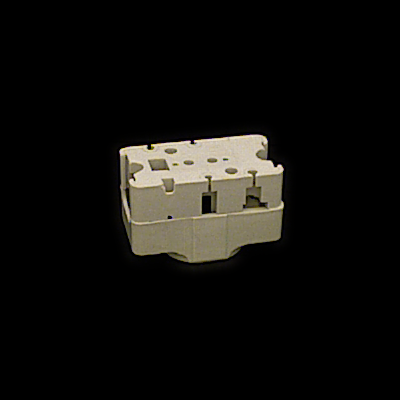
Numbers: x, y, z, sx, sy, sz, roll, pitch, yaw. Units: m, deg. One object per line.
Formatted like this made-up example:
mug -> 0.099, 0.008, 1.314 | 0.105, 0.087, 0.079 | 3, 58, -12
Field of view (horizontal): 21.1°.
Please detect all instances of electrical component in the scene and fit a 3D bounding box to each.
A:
electrical component -> 0.000, 0.000, 0.642 | 0.090, 0.056, 0.049 | -7, 34, -11
